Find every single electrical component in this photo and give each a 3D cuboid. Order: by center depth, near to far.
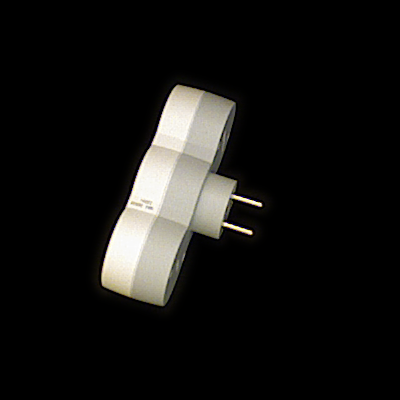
[{"bbox_3d":[0.000,0.000,0.636,0.073,0.139,0.052,17,-26,7],"label":"electrical component"}]
